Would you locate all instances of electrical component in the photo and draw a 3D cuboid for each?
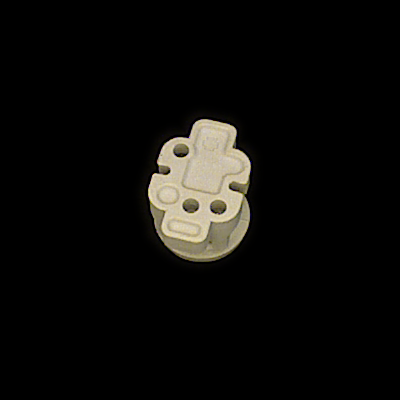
[{"bbox_3d":[0.000,0.000,0.636,0.058,0.079,0.057,12,-27,7],"label":"electrical component"}]
